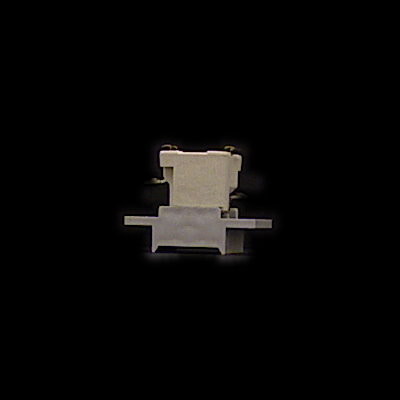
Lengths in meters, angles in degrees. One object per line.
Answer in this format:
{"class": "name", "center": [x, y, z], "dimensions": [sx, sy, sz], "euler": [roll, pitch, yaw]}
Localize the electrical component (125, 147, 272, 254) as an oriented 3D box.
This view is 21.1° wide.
{"class": "electrical component", "center": [0.000, 0.000, 0.650], "dimensions": [0.081, 0.064, 0.042], "euler": [1, 1, 16]}
